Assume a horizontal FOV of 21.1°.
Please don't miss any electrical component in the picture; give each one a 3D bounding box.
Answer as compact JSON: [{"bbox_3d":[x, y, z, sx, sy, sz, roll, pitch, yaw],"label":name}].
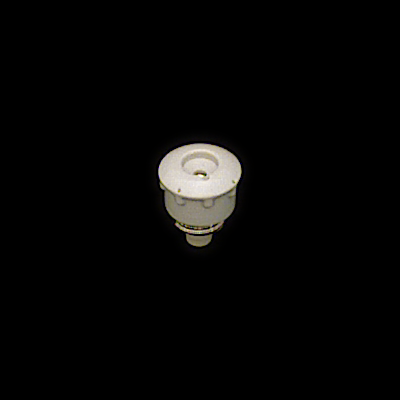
[{"bbox_3d":[0.000,0.000,0.638,0.048,0.062,0.047,0,43,0],"label":"electrical component"}]
